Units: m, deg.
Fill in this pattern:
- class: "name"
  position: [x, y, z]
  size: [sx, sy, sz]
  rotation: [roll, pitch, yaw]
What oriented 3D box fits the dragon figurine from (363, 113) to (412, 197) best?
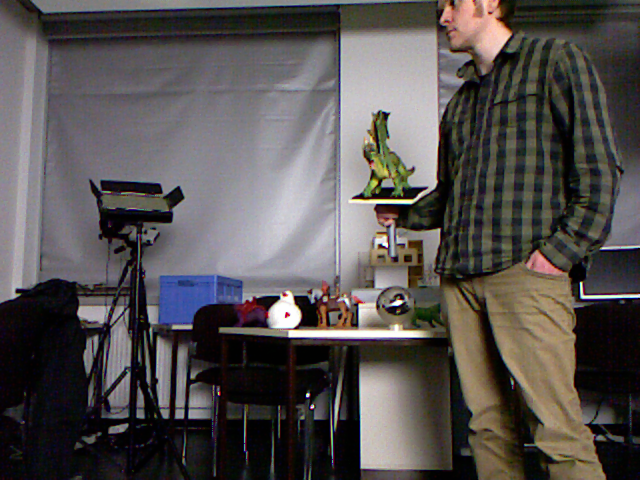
- class: "dragon figurine"
  position: [0.210, -0.267, 1.581]
  size: [0.122, 0.240, 0.418]
  rotation: [2, 21, 22]
